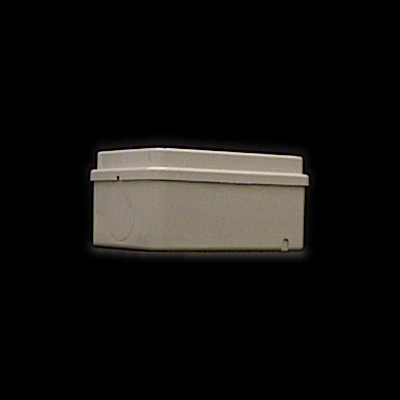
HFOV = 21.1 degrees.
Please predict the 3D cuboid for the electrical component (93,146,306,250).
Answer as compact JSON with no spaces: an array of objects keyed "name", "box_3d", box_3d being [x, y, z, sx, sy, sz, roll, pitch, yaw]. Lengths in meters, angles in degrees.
[{"name":"electrical component","box_3d":[0.000,0.000,0.647,0.113,0.057,0.078,2,0,-35]}]
